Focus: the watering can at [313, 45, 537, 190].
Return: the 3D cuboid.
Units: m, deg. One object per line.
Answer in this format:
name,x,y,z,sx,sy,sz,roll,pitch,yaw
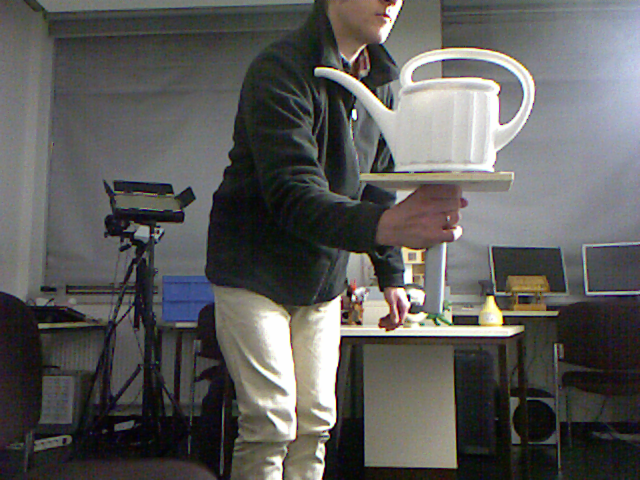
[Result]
watering can,0.155,-0.190,0.815,0.348,0.224,0.104,3,5,17
